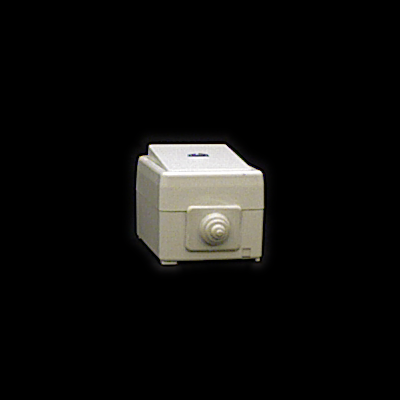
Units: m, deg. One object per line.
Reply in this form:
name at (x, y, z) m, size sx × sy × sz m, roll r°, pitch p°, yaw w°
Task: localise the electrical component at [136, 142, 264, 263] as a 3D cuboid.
electrical component at (0.000, 0.000, 0.642) m, size 0.062 × 0.061 × 0.095 m, roll -1°, pitch 11°, yaw -14°
